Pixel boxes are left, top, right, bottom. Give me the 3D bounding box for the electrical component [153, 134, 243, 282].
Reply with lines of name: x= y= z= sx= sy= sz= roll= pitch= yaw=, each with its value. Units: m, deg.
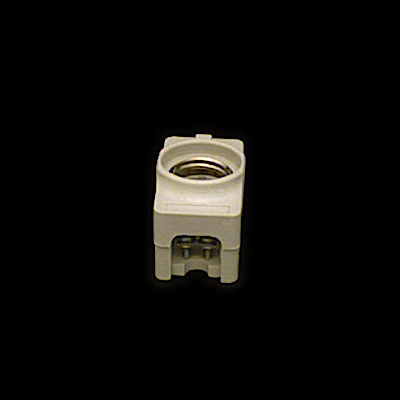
electrical component: x=0.000 y=0.000 z=0.643 sx=0.050 sy=0.056 sz=0.088 roll=2 pitch=32 yaw=2
